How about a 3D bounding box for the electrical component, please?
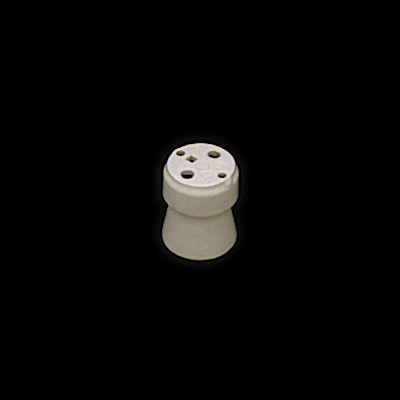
[{"bbox_3d":[0.000,0.000,0.633,0.045,0.056,0.044,1,42,-1],"label":"electrical component"}]
